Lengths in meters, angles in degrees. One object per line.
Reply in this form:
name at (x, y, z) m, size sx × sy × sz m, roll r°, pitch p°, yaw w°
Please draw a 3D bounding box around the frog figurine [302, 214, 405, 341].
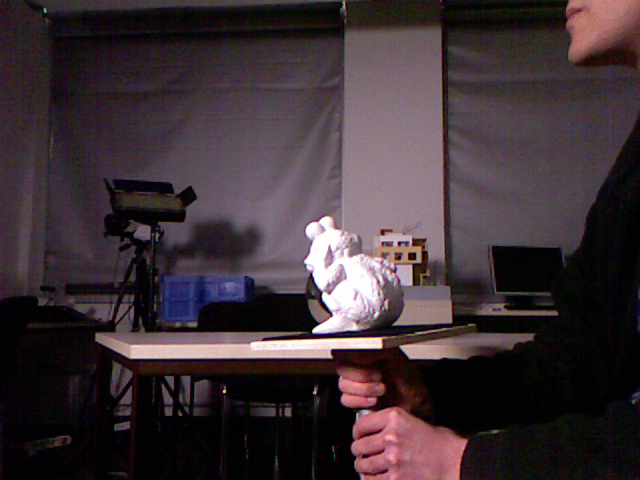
frog figurine at (0.044, 0.044, 0.662) m, size 0.138 × 0.160 × 0.122 m, roll -2°, pitch -4°, yaw -35°
